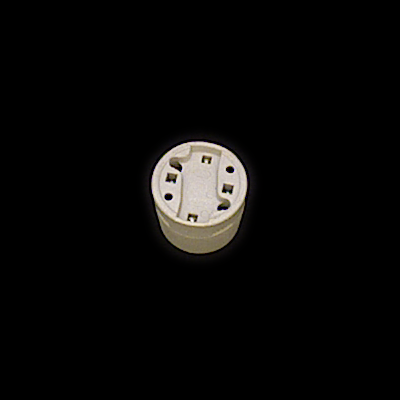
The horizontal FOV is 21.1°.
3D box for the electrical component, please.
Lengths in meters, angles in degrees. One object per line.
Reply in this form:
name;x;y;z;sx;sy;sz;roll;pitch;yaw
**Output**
electrical component;0.000;0.000;0.633;0.055;0.056;0.047;0;-27;0
